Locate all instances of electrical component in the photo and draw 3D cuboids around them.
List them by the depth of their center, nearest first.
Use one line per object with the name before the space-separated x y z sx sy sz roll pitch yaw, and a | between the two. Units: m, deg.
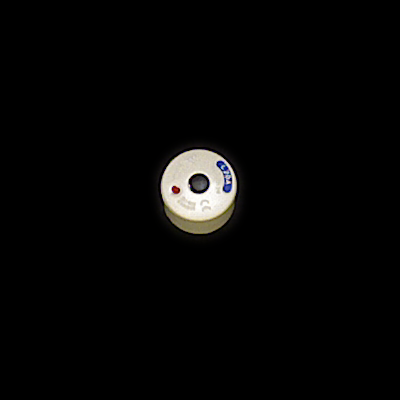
electrical component | 0.000 0.000 0.617 0.040 0.040 0.078 0 -16 1
